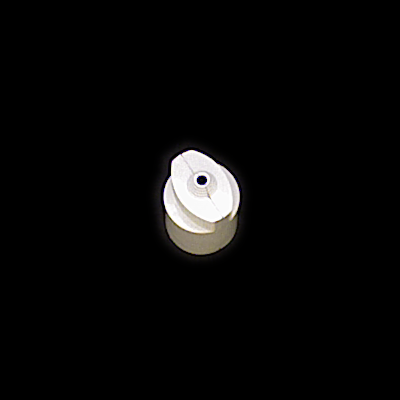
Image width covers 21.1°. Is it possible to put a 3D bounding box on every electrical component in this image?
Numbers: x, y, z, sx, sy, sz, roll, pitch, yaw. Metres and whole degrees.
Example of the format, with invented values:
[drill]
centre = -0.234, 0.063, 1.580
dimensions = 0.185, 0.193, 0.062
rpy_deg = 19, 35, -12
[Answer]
[electrical component]
centre = 0.000, 0.000, 0.616
dimensions = 0.043, 0.043, 0.080
rpy_deg = 0, -17, 0
